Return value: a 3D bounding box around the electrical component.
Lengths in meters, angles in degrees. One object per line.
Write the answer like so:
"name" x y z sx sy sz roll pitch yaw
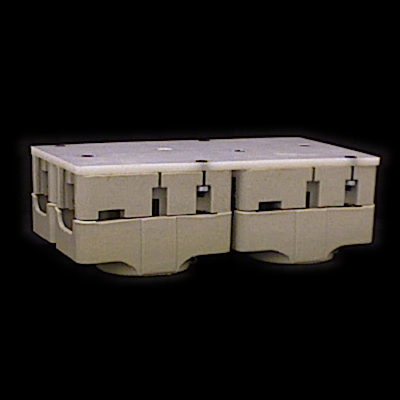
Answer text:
"electrical component" 0.000 0.000 0.644 0.186 0.060 0.104 -3 11 -23
